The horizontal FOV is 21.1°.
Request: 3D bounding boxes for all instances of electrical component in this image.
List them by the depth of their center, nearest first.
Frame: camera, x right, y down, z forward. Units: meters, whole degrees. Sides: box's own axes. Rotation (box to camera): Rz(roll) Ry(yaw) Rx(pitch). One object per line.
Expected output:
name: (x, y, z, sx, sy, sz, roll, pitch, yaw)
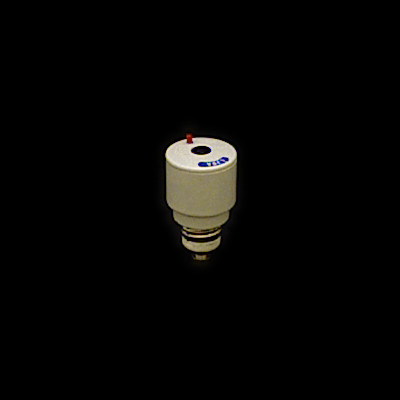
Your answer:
electrical component: (0.000, 0.000, 0.631, 0.040, 0.079, 0.039, 0, 31, 0)
